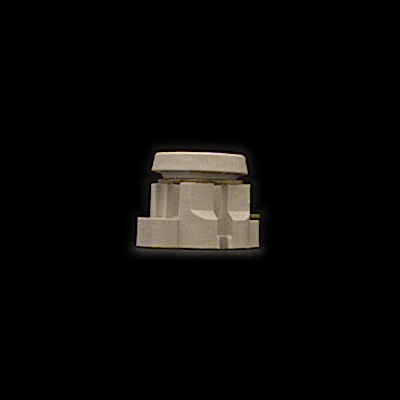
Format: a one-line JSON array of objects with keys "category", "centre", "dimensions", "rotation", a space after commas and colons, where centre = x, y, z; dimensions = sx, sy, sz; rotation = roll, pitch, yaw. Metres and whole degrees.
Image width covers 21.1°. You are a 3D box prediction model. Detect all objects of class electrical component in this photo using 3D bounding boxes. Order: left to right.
[{"category": "electrical component", "centre": [0.000, 0.000, 0.651], "dimensions": [0.079, 0.057, 0.057], "rotation": [1, 1, -35]}]
